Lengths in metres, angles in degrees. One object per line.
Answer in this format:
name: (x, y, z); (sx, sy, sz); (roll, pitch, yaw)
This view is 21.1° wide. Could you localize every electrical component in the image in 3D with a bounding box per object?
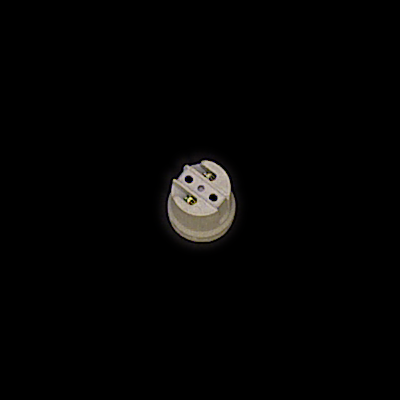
electrical component: (0.000, 0.000, 0.633); (0.040, 0.040, 0.046); (0, -17, 0)
